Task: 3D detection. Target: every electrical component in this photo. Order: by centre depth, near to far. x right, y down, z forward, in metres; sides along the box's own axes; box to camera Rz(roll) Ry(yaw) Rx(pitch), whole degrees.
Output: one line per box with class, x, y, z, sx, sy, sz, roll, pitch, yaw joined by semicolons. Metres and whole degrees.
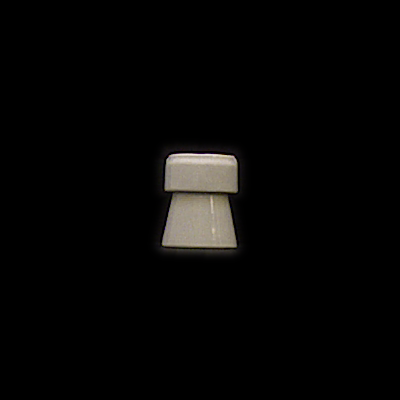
electrical component;0.000;0.000;0.651;0.045;0.055;0.045;2;1;0
